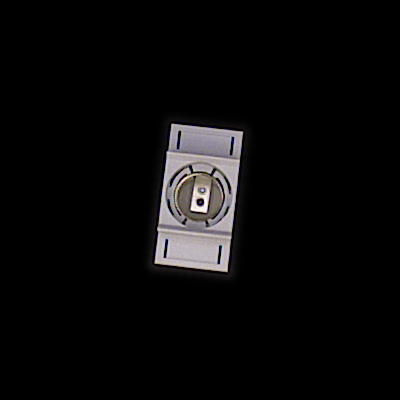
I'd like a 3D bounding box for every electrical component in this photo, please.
[{"bbox_3d":[0.000,0.000,0.625,0.042,0.081,0.063,7,-6,2],"label":"electrical component"}]
